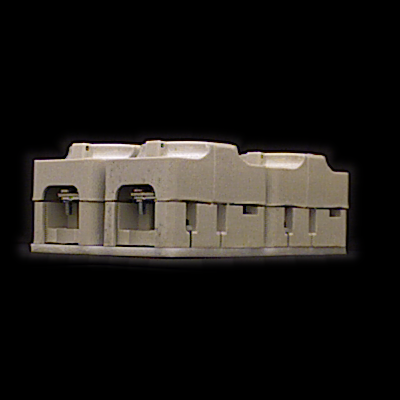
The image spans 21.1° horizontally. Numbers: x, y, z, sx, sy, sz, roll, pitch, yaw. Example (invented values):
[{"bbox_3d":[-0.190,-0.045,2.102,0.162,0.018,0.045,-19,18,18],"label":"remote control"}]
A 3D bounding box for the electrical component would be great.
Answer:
[{"bbox_3d":[0.000,0.000,0.649,0.105,0.060,0.186,1,0,37],"label":"electrical component"}]
